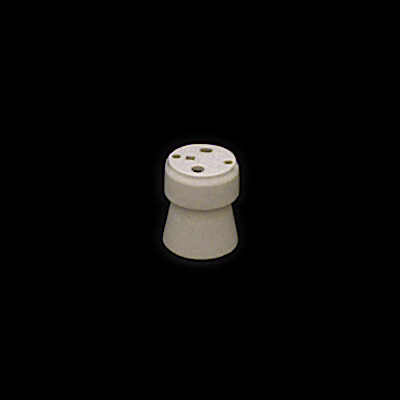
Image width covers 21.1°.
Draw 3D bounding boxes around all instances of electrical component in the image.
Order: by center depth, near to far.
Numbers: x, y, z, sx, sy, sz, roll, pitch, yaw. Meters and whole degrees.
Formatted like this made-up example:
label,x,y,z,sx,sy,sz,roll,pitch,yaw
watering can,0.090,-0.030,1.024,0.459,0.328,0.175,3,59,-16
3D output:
label,x,y,z,sx,sy,sz,roll,pitch,yaw
electrical component,0.000,0.000,0.637,0.045,0.056,0.044,1,32,0
